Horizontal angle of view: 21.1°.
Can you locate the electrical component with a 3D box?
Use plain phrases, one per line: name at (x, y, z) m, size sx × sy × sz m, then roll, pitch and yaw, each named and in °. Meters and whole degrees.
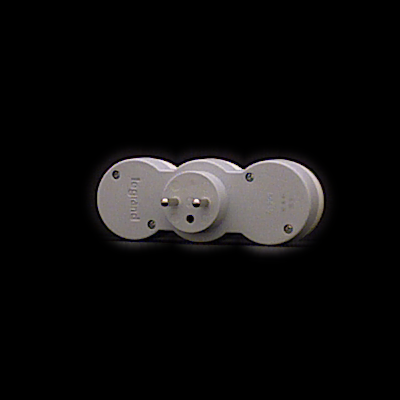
electrical component at (0.000, 0.000, 0.649) m, size 0.138 × 0.052 × 0.073 m, roll 2°, pitch 3°, yaw 19°
